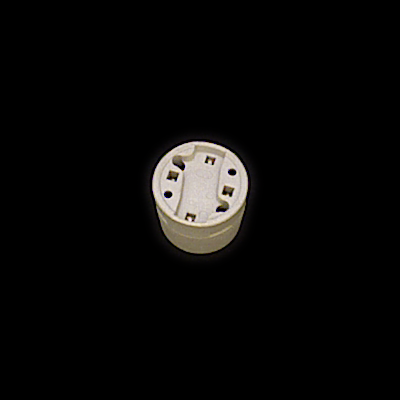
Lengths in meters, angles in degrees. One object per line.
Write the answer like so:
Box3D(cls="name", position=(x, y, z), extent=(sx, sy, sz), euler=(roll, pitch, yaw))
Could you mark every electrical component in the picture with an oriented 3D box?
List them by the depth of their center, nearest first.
Box3D(cls="electrical component", position=(0.000, 0.000, 0.633), extent=(0.055, 0.056, 0.047), euler=(0, -27, 0))
